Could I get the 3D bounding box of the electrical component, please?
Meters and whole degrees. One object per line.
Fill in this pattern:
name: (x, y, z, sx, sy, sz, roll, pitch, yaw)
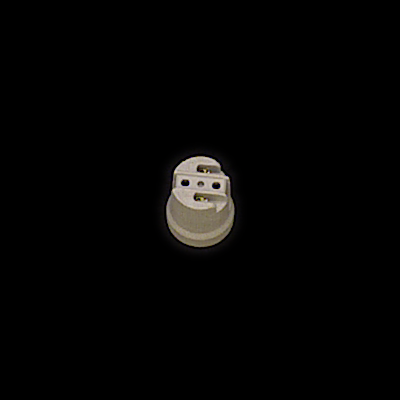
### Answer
electrical component: (0.000, 0.000, 0.632, 0.040, 0.040, 0.046, 0, -26, 0)
